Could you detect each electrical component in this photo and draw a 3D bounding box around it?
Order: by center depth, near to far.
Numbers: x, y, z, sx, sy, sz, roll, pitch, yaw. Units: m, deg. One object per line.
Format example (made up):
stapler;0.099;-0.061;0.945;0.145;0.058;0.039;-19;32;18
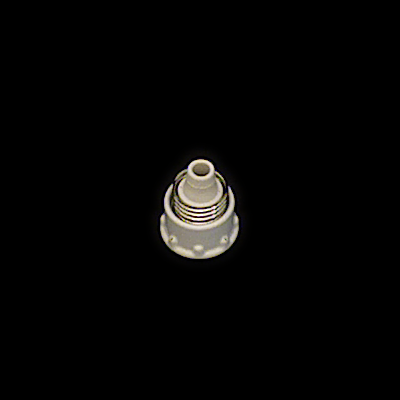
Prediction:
electrical component;0.000;0.000;0.636;0.048;0.048;0.062;0;-37;-2
